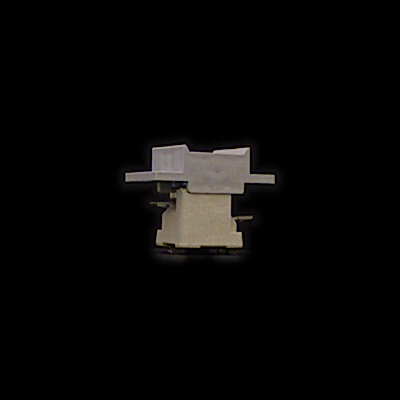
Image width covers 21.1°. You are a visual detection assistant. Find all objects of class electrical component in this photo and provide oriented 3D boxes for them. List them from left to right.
[{"bbox_3d":[0.000,0.000,0.651,0.081,0.064,0.042,1,0,-28],"label":"electrical component"}]
